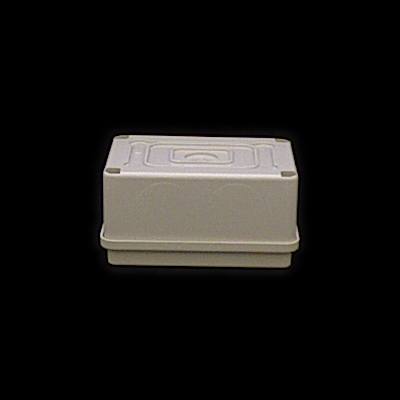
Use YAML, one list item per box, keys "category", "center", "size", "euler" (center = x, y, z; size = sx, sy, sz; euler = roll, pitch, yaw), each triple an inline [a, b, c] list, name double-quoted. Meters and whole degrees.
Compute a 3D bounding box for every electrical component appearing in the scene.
- category: "electrical component"
  center: [0.000, 0.000, 0.639]
  size: [0.113, 0.058, 0.077]
  euler: [1, 21, 0]
